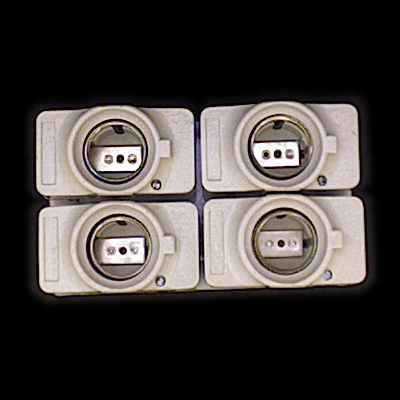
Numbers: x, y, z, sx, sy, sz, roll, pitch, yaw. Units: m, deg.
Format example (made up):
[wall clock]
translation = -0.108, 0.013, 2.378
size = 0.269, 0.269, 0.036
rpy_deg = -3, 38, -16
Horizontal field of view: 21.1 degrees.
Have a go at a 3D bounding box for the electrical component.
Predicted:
[electrical component]
translation = 0.000, 0.000, 0.627
size = 0.186, 0.106, 0.060
rpy_deg = -2, -7, -1
